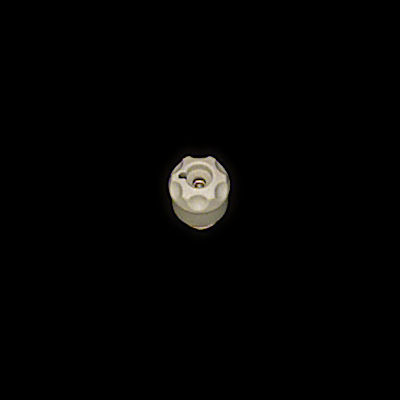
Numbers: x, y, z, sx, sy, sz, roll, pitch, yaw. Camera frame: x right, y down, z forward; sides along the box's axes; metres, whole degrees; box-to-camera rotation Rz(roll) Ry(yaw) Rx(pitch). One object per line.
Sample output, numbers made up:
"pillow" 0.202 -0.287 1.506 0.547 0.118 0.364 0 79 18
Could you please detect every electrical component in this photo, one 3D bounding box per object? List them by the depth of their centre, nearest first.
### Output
"electrical component" 0.000 0.000 0.634 0.035 0.035 0.061 0 -27 1
